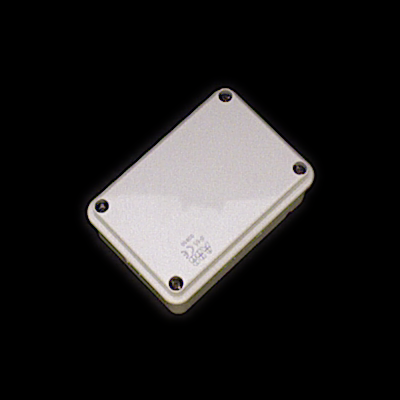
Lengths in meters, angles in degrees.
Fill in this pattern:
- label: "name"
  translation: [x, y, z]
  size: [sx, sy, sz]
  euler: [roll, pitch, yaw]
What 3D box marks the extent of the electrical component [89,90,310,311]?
- label: "electrical component"
  translation: [0.000, 0.000, 0.626]
  size: [0.113, 0.078, 0.057]
  euler: [-42, -12, -12]
